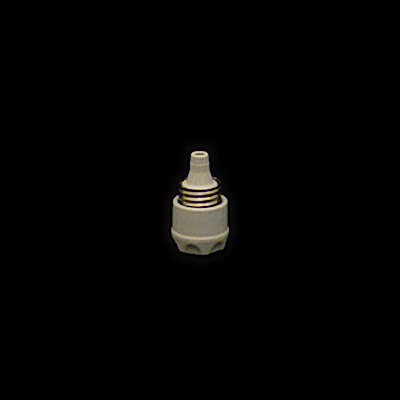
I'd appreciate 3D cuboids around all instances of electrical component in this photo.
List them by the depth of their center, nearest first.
[{"bbox_3d":[0.000,0.000,0.649,0.035,0.062,0.035,0,21,0],"label":"electrical component"}]
